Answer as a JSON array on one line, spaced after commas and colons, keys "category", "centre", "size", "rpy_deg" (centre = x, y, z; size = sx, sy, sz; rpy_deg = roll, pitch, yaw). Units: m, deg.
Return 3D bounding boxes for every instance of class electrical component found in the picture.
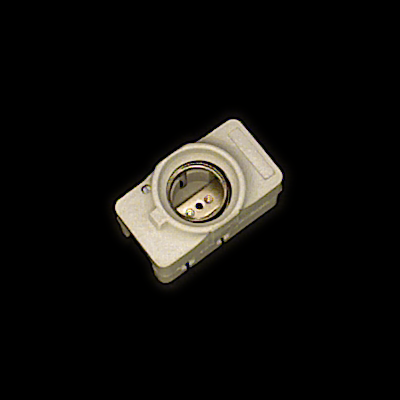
[{"category": "electrical component", "centre": [0.000, 0.000, 0.636], "size": [0.090, 0.050, 0.055], "rpy_deg": [-37, -13, -10]}]
